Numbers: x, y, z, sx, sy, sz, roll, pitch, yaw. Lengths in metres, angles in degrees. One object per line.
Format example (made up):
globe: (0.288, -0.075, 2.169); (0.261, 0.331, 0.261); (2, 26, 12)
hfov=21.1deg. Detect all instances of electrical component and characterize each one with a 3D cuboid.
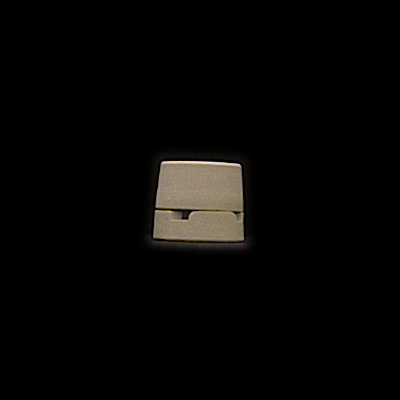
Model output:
electrical component: (0.000, 0.000, 0.651); (0.055, 0.047, 0.055); (2, 1, 0)
